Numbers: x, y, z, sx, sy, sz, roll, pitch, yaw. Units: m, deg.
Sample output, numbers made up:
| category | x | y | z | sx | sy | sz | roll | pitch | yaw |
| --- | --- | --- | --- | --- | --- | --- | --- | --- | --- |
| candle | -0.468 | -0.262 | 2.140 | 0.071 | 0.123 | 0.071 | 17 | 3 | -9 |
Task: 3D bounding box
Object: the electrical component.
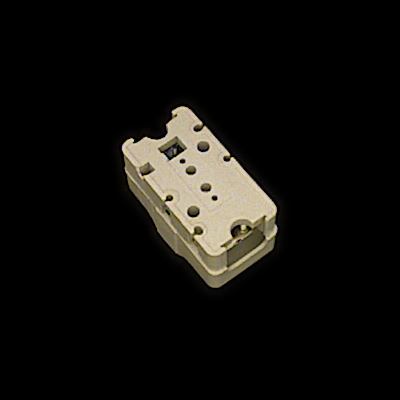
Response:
| category | x | y | z | sx | sy | sz | roll | pitch | yaw |
| --- | --- | --- | --- | --- | --- | --- | --- | --- | --- |
| electrical component | 0.000 | 0.000 | 0.635 | 0.050 | 0.089 | 0.055 | -35 | -22 | -15 |
